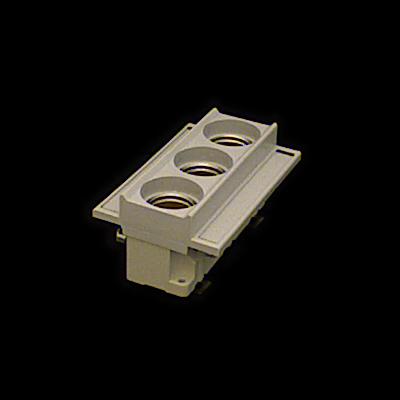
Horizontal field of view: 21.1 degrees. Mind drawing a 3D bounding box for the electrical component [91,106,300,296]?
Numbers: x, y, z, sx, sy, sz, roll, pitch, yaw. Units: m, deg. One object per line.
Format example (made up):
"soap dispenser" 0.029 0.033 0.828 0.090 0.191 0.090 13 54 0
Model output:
"electrical component" 0.000 0.000 0.647 0.078 0.064 0.120 16 35 21
